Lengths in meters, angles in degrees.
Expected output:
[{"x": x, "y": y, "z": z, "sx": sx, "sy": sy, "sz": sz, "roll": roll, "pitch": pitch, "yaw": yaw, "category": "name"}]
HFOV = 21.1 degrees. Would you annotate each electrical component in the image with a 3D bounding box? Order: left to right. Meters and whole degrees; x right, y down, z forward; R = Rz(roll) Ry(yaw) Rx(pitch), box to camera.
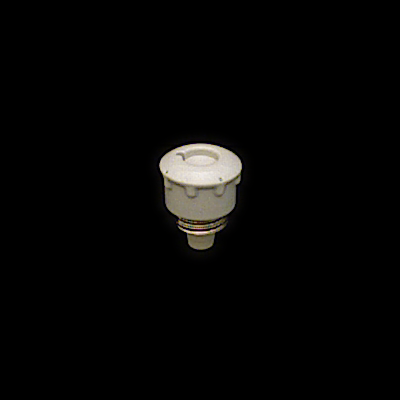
[{"x": 0.000, "y": 0.000, "z": 0.639, "sx": 0.048, "sy": 0.063, "sz": 0.047, "roll": 1, "pitch": 32, "yaw": 0, "category": "electrical component"}]
